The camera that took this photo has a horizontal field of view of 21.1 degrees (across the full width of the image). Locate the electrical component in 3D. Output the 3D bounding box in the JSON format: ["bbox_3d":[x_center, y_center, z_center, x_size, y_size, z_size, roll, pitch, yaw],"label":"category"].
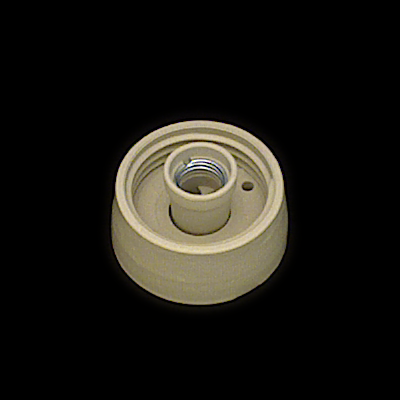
[{"bbox_3d":[0.000,0.000,0.635,0.108,0.107,0.060,0,-37,-1],"label":"electrical component"}]
